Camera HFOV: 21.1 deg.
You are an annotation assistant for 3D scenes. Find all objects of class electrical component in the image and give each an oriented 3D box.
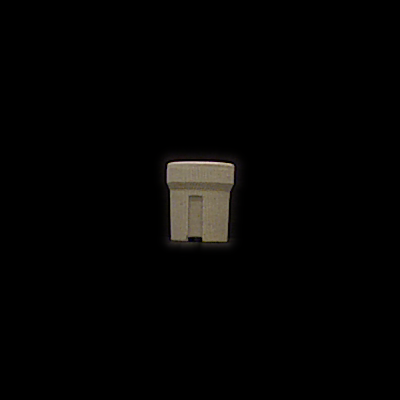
[{"bbox_3d":[0.000,0.000,0.651,0.040,0.046,0.040,1,1,0],"label":"electrical component"}]
